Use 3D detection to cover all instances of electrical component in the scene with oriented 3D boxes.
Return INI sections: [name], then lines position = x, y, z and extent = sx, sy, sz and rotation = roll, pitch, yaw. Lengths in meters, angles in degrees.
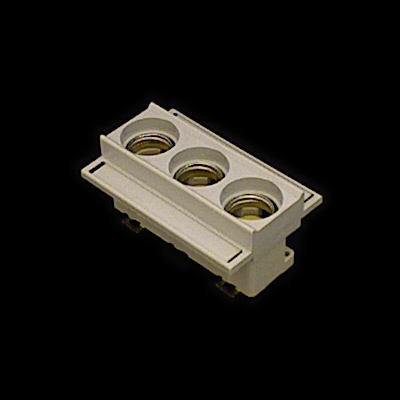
[electrical component]
position = 0.000, 0.000, 0.641
extent = 0.120, 0.063, 0.078
rotation = 33, 53, 30
